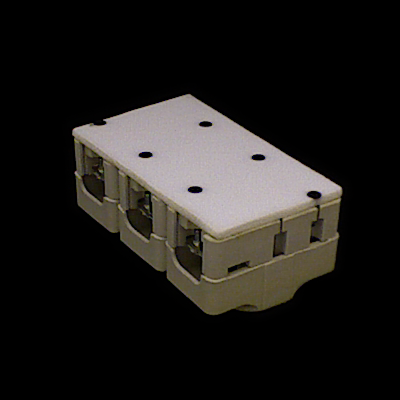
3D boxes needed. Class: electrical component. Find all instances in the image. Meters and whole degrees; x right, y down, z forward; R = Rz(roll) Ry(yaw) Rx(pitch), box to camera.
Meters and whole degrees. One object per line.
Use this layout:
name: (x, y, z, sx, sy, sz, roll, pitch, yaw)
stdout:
electrical component: (0.000, 0.000, 0.640, 0.089, 0.063, 0.148, -20, 37, -30)
